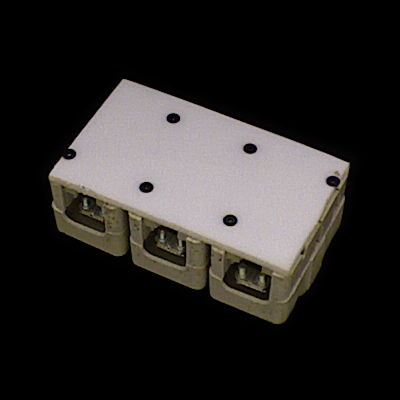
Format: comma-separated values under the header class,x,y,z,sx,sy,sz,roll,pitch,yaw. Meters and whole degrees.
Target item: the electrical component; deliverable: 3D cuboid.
class,x,y,z,sx,sy,sz,roll,pitch,yaw
electrical component,0.000,0.000,0.633,0.149,0.089,0.062,22,-35,16
